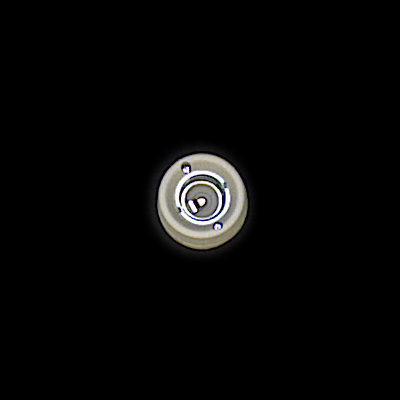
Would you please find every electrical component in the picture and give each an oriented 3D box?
[{"bbox_3d":[0.000,0.000,0.634,0.055,0.055,0.047,0,-8,1],"label":"electrical component"}]
